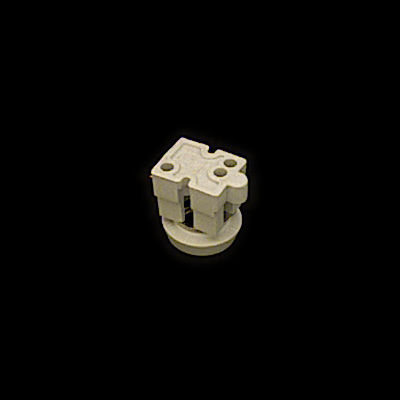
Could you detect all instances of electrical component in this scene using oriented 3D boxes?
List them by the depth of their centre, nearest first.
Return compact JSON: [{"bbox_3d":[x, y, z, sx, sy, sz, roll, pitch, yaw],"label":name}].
[{"bbox_3d":[0.000,0.000,0.641,0.066,0.056,0.048,21,48,22],"label":"electrical component"}]
